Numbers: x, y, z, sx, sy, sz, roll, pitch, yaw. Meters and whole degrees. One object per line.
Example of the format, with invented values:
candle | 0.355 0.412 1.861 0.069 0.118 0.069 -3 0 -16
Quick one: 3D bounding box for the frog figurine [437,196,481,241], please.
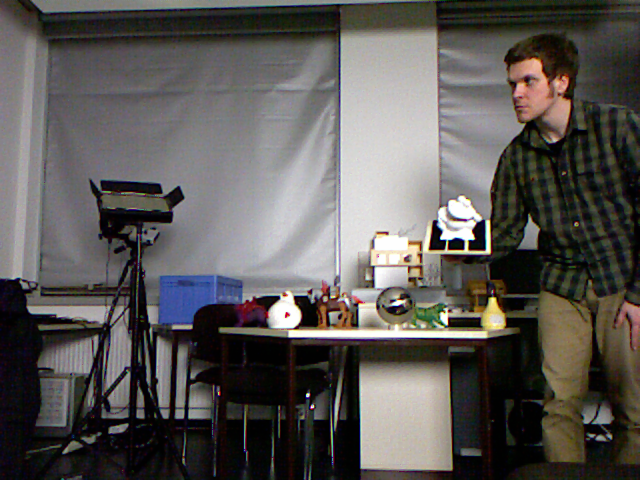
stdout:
frog figurine | 0.450 -0.083 1.673 0.138 0.156 0.125 13 37 31
